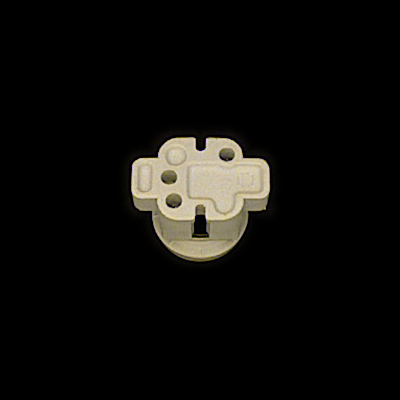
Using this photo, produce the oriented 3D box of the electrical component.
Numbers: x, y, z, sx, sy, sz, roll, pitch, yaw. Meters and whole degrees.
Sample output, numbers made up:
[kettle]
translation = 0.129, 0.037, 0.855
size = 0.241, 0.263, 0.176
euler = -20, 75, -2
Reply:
[electrical component]
translation = 0.000, 0.000, 0.636
size = 0.078, 0.058, 0.057
euler = 0, -27, -2
